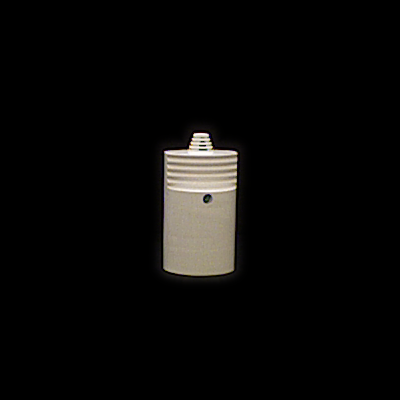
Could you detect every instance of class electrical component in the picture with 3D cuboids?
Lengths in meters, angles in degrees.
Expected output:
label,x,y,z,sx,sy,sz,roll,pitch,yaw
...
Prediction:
label,x,y,z,sx,sy,sz,roll,pitch,yaw
electrical component,0.000,0.000,0.642,0.043,0.081,0.043,1,11,0
